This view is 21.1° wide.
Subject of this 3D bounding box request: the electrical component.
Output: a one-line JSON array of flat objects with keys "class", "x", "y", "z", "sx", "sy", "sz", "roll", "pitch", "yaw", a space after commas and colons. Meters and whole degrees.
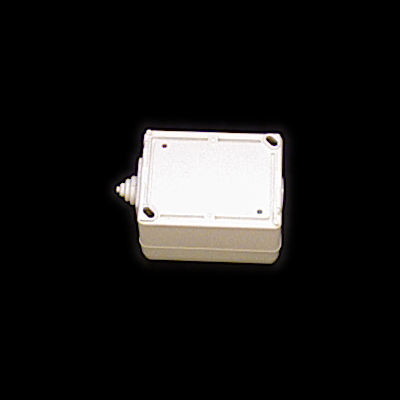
[{"class": "electrical component", "x": 0.000, "y": 0.000, "z": 0.629, "sx": 0.096, "sy": 0.062, "sz": 0.061, "roll": 2, "pitch": -27, "yaw": 1}]
